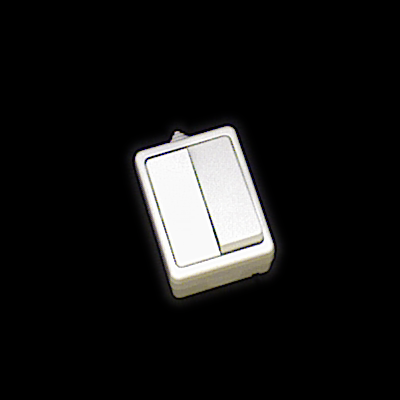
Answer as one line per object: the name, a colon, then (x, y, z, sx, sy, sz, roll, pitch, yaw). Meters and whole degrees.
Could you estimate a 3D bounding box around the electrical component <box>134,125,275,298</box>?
electrical component: (0.000, 0.000, 0.627, 0.062, 0.096, 0.060, -16, -16, -5)
